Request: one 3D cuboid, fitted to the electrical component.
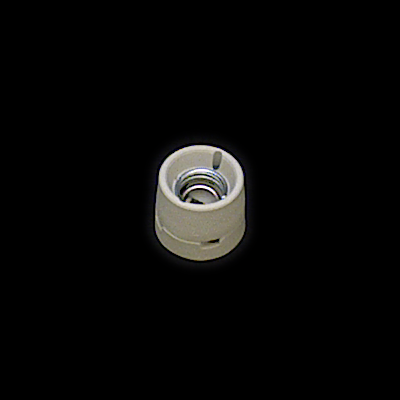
[{"bbox_3d":[0.000,0.000,0.635,0.055,0.055,0.047,0,-38,-2],"label":"electrical component"}]
